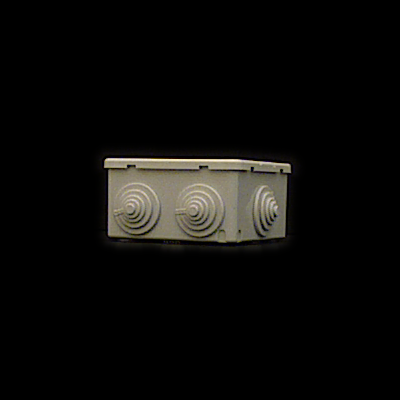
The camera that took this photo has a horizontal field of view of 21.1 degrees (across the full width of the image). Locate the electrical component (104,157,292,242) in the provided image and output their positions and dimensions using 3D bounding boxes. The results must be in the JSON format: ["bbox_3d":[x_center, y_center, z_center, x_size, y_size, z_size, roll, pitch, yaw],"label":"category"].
[{"bbox_3d":[0.000,0.000,0.655,0.099,0.048,0.100,2,1,25],"label":"electrical component"}]
